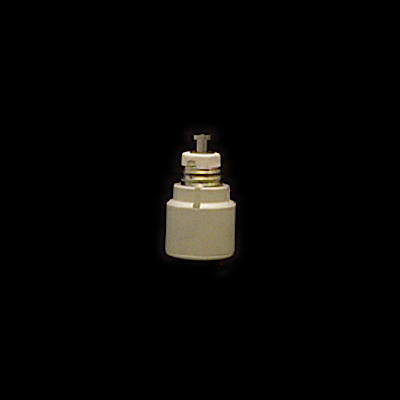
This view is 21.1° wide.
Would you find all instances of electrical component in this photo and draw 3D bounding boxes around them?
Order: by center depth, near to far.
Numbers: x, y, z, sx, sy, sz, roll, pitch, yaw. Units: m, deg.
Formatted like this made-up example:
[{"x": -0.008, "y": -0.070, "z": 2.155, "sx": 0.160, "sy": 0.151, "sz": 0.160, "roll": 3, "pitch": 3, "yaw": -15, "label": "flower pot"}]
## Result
[{"x": 0.000, "y": 0.000, "z": 0.640, "sx": 0.040, "sy": 0.079, "sz": 0.040, "roll": 1, "pitch": 10, "yaw": 0, "label": "electrical component"}]
